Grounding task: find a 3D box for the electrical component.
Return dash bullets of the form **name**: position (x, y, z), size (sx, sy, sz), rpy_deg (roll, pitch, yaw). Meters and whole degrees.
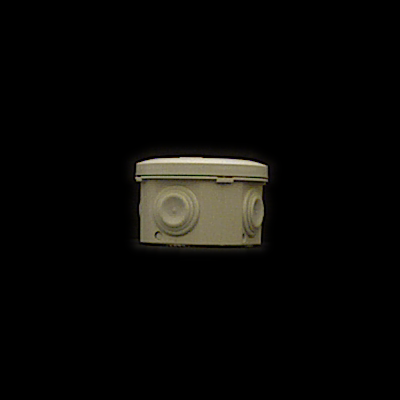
- **electrical component**: position (0.000, 0.000, 0.650), size (0.080, 0.051, 0.080), rpy_deg (1, 0, 0)
